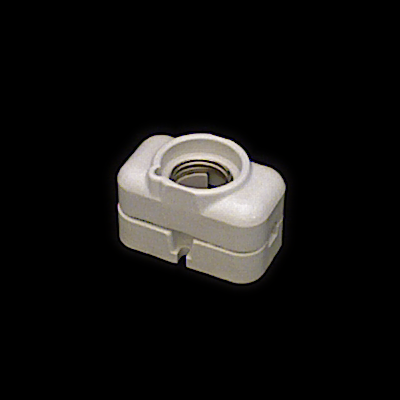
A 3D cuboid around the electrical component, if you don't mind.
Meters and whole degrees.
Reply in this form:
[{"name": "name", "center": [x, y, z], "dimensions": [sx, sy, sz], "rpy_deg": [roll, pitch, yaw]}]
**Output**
[{"name": "electrical component", "center": [0.000, 0.000, 0.637], "dimensions": [0.094, 0.060, 0.053], "rpy_deg": [17, 45, 18]}]
